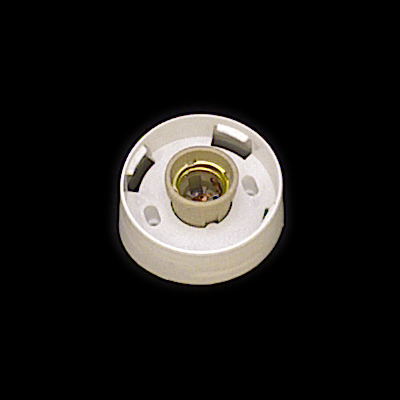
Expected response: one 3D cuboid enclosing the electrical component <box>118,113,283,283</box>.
[{"bbox_3d":[0.000,0.000,0.625,0.099,0.099,0.064,0,-28,0],"label":"electrical component"}]
